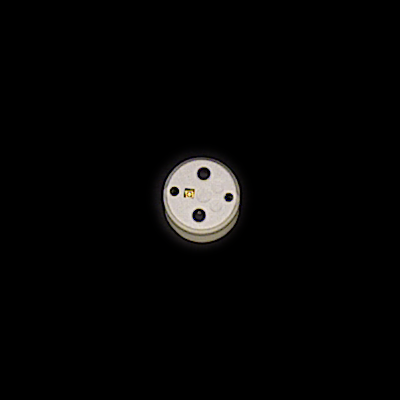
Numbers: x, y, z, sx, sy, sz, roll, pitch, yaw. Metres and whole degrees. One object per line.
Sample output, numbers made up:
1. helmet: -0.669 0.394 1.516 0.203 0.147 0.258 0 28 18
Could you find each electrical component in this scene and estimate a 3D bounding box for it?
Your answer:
1. electrical component: 0.000 0.000 0.630 0.045 0.045 0.055 0 -7 0
